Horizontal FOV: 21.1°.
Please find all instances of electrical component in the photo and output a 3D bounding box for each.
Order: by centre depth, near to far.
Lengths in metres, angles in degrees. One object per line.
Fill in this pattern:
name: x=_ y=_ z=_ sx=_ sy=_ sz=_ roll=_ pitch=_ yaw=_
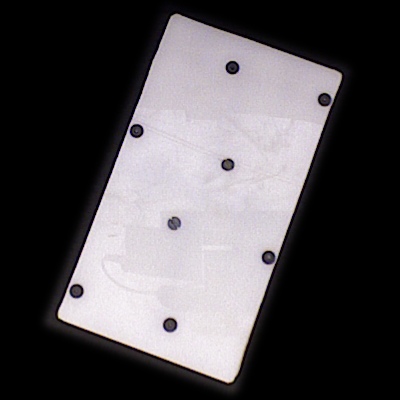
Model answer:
electrical component: x=0.000 y=0.000 z=0.626 sx=0.105 sy=0.187 sz=0.060 roll=20 pitch=-6 yaw=3
